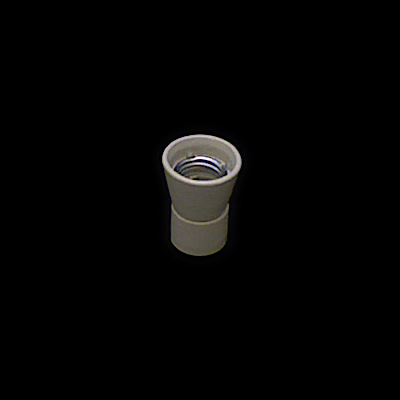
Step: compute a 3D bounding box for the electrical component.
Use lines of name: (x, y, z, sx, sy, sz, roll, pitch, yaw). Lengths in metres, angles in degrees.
electrical component: (0.000, 0.000, 0.630, 0.044, 0.066, 0.044, 1, 41, -1)
